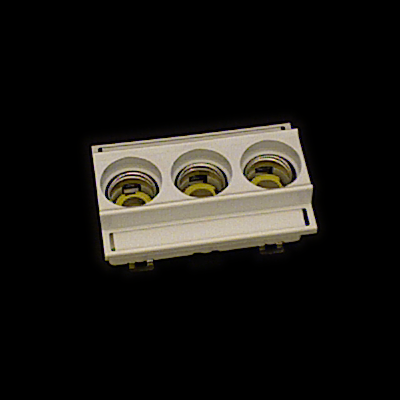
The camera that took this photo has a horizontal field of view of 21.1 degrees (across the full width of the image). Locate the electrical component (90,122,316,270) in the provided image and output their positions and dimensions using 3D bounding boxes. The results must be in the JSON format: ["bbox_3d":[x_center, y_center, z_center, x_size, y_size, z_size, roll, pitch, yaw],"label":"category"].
[{"bbox_3d":[0.000,0.000,0.639,0.121,0.078,0.063,-7,-35,-5],"label":"electrical component"}]
